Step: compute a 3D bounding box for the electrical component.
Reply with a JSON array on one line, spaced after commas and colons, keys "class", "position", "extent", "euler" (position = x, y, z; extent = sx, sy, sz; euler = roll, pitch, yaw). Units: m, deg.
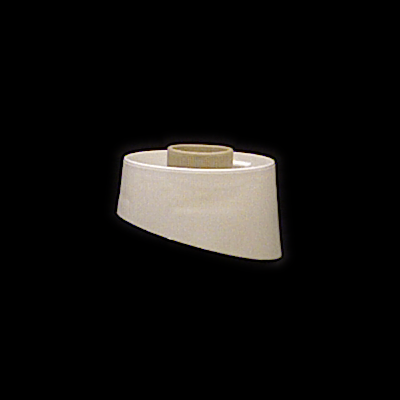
[{"class": "electrical component", "position": [0.000, 0.000, 0.643], "extent": [0.099, 0.064, 0.098], "euler": [2, 10, 0]}]
